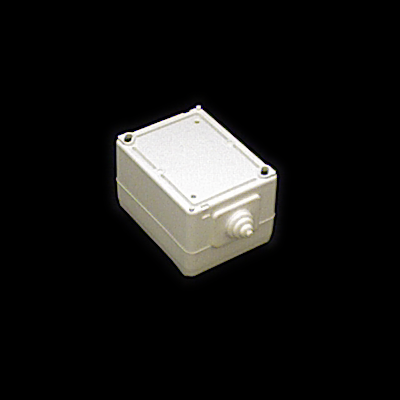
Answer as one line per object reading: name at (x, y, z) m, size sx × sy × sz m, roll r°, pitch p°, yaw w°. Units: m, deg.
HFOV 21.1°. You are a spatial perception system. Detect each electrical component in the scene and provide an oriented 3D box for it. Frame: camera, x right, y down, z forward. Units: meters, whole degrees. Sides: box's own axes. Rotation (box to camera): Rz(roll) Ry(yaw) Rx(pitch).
electrical component at (0.000, 0.000, 0.627) m, size 0.061 × 0.061 × 0.096 m, roll -24°, pitch 47°, yaw -26°
